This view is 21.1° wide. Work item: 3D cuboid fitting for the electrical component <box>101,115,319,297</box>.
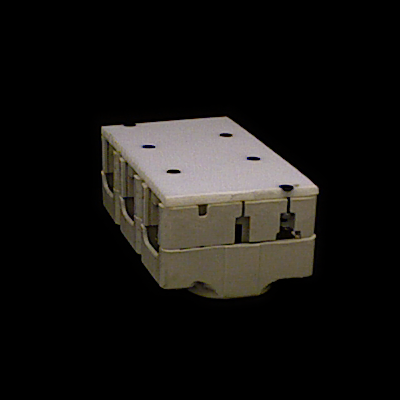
[{"bbox_3d":[0.000,0.000,0.647,0.090,0.063,0.147,-5,21,-17],"label":"electrical component"}]
